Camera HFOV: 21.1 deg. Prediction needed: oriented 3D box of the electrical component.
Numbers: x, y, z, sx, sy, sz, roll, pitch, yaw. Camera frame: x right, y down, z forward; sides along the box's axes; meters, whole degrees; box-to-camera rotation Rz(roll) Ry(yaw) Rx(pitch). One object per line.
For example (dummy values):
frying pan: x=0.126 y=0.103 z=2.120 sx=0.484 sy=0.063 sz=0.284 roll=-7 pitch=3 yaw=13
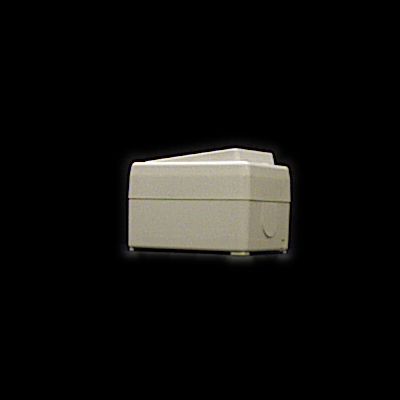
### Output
electrical component: x=0.000 y=0.000 z=0.651 sx=0.096 sy=0.061 sz=0.062 roll=1 pitch=0 yaw=29
